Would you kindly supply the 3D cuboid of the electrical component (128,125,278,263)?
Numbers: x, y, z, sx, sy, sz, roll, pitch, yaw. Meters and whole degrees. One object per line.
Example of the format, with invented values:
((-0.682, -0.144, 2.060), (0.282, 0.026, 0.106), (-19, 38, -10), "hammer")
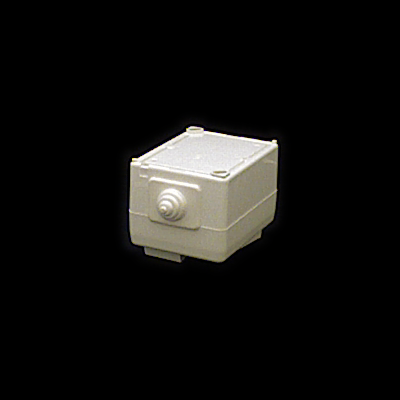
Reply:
((0.000, 0.000, 0.631), (0.061, 0.061, 0.095), (11, 23, 23), "electrical component")
